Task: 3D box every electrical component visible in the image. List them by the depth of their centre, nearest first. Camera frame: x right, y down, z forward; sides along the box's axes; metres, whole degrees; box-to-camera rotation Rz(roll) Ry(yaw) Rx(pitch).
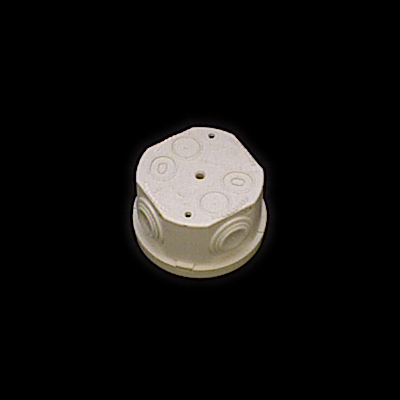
[{"bbox_3d":[0.000,0.000,0.631,0.080,0.080,0.051,0,-37,-1],"label":"electrical component"}]
